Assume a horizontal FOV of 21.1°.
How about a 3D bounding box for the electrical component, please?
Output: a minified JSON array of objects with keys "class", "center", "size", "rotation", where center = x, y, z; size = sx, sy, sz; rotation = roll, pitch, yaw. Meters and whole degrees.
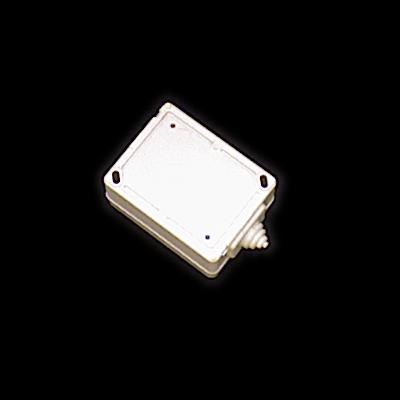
[{"class":"electrical component","center":[0.000,0.000,0.627],"size":[0.096,0.062,0.060],"rotation":[36,-13,9]}]
